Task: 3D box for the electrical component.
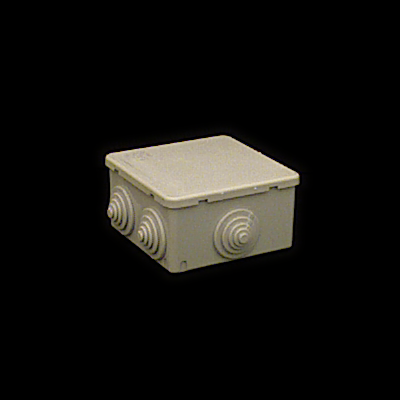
[{"bbox_3d":[0.000,0.000,0.647,0.100,0.049,0.098,-11,25,-28],"label":"electrical component"}]
